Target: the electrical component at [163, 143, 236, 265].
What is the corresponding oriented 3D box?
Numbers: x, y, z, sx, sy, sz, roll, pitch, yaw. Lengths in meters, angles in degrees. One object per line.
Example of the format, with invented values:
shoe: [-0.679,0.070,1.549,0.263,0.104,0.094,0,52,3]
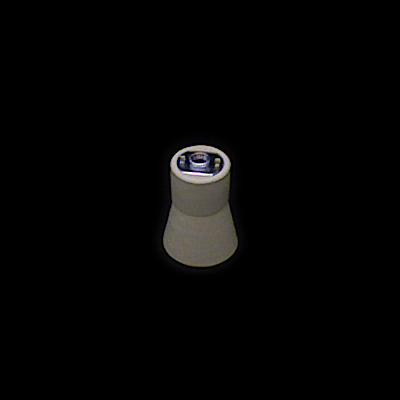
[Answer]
electrical component: [0.000,0.000,0.631,0.044,0.066,0.044,0,41,0]
